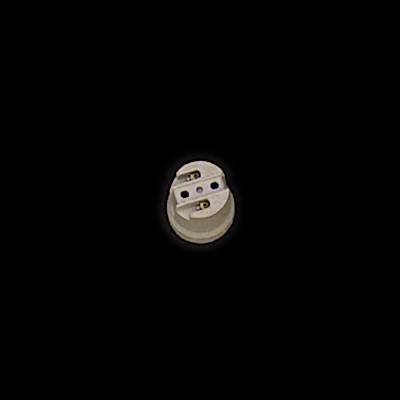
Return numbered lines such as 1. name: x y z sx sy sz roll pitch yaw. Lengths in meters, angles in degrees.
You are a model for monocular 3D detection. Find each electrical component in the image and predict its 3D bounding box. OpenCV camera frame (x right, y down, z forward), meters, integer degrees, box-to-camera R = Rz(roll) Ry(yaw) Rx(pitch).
1. electrical component: 0.000 0.000 0.633 0.040 0.040 0.046 0 -17 0
